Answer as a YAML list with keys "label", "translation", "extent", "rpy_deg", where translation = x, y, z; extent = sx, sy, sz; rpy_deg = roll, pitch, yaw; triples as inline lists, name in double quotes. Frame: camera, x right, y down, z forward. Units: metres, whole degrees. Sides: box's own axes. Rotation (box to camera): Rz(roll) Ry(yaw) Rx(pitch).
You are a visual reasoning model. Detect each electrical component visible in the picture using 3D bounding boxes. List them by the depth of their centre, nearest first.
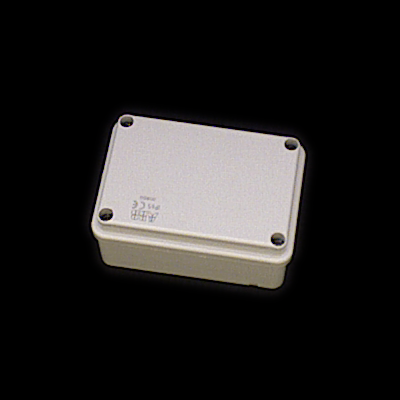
- label: "electrical component"
  translation: [0.000, 0.000, 0.626]
  extent: [0.113, 0.078, 0.057]
  rpy_deg: [8, -27, 3]
